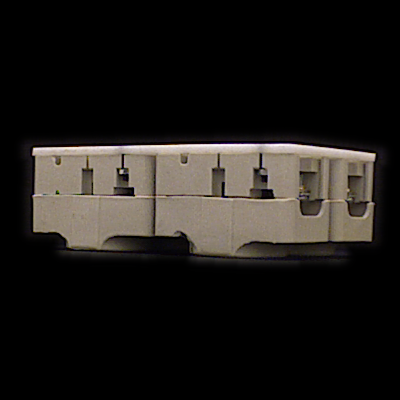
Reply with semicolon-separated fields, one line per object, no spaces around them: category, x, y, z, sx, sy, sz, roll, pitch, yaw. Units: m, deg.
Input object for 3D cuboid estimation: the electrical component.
electrical component;0.000;0.000;0.650;0.186;0.060;0.106;1;0;34
